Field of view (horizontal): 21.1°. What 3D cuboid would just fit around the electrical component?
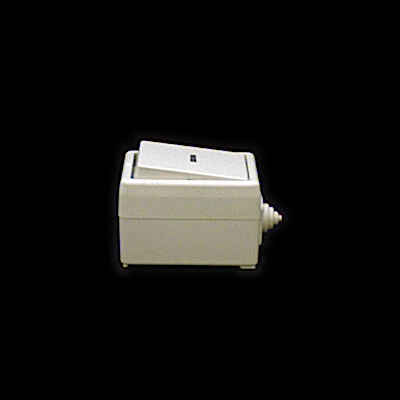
[{"bbox_3d":[0.000,0.000,0.638,0.096,0.061,0.061,1,21,-1],"label":"electrical component"}]
